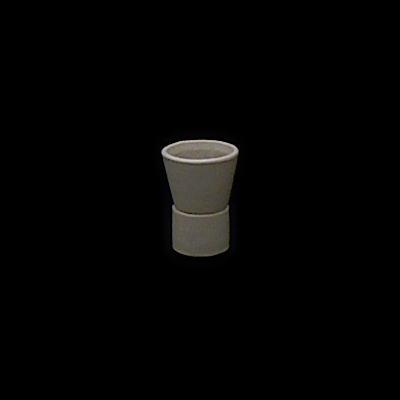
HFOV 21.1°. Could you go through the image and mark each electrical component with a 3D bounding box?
[{"bbox_3d":[0.000,0.000,0.638,0.044,0.066,0.044,0,21,0],"label":"electrical component"}]
